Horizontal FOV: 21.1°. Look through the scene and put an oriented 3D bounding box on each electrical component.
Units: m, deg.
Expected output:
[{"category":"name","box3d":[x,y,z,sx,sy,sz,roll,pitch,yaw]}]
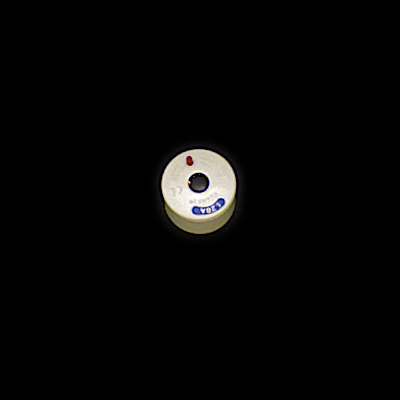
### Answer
[{"category":"electrical component","box3d":[0.000,0.000,0.618,0.040,0.040,0.078,0,-17,0]}]
